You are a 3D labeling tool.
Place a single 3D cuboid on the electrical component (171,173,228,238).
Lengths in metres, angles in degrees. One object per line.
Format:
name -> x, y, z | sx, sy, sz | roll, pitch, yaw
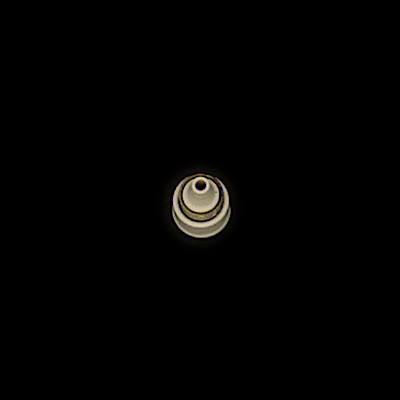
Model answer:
electrical component -> 0.000, 0.000, 0.637 | 0.035, 0.035, 0.061 | 0, -17, 0
